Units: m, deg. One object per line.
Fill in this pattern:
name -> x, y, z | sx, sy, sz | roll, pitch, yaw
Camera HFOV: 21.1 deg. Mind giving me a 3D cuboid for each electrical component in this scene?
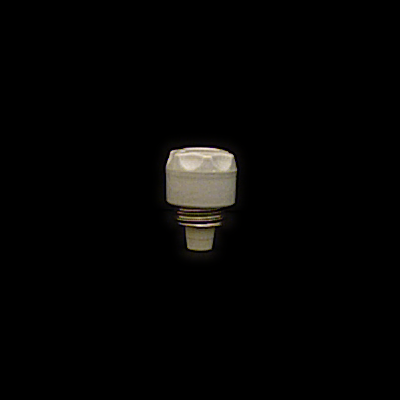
electrical component -> 0.000, 0.000, 0.652 | 0.043, 0.062, 0.043 | 2, 11, 0
